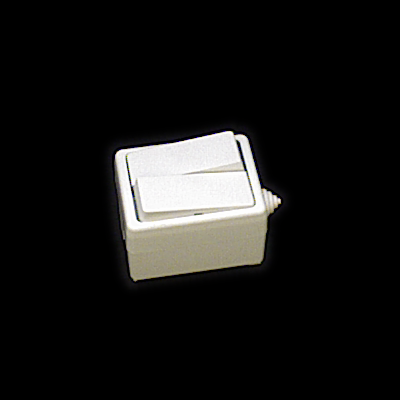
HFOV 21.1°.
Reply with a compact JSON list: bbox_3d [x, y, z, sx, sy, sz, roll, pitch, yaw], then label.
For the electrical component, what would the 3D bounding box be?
[{"bbox_3d":[0.000,0.000,0.629,0.096,0.061,0.061,-8,-38,-6],"label":"electrical component"}]
